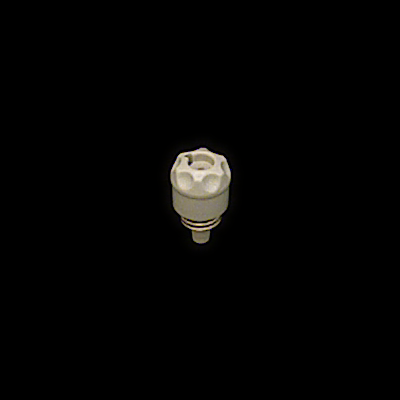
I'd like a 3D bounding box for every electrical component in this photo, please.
[{"bbox_3d":[0.000,0.000,0.639,0.035,0.062,0.035,1,42,0],"label":"electrical component"}]
